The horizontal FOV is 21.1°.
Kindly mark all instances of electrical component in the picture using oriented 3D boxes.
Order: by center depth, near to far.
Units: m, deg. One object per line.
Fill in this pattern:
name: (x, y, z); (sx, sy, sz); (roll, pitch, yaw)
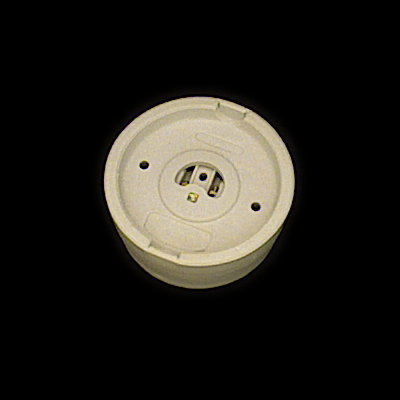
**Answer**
electrical component: (0.000, 0.000, 0.632); (0.108, 0.108, 0.060); (0, -27, -1)
